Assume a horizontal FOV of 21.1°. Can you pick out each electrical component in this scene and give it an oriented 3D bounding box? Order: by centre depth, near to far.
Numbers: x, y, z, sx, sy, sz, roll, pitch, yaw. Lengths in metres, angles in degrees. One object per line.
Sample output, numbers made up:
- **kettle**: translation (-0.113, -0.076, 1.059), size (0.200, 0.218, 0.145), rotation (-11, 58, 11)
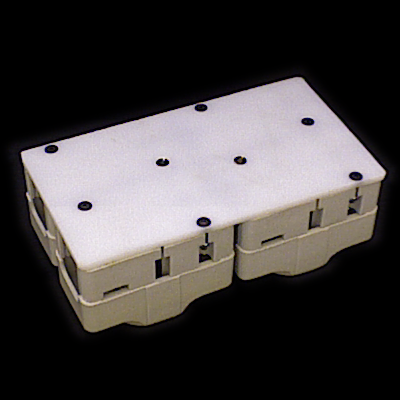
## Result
- **electrical component**: translation (0.000, 0.000, 0.630), size (0.186, 0.061, 0.104), rotation (-17, 45, -18)
